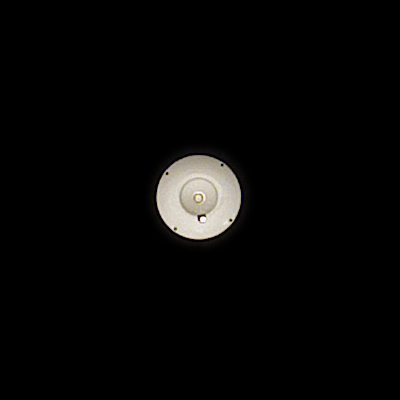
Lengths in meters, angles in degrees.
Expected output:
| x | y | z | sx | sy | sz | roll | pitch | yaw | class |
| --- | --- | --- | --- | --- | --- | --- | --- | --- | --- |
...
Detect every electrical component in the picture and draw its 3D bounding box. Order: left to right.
| x | y | z | sx | sy | sz | roll | pitch | yaw | class |
| --- | --- | --- | --- | --- | --- | --- | --- | --- | --- |
| 0.000 | 0.000 | 0.634 | 0.048 | 0.048 | 0.062 | 0 | -5 | 1 | electrical component |
